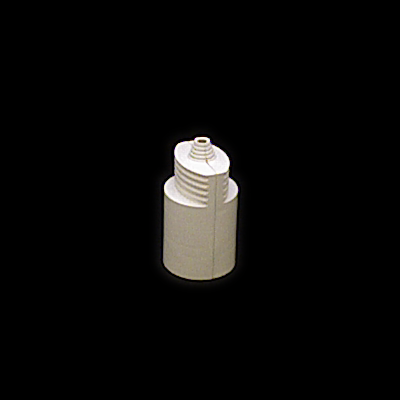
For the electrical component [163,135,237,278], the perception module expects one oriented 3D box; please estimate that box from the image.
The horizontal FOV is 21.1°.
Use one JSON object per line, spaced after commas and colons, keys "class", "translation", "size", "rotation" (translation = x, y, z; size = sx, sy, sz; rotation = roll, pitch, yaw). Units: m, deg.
{"class": "electrical component", "translation": [0.000, 0.000, 0.628], "size": [0.043, 0.082, 0.042], "rotation": [1, 31, 0]}
